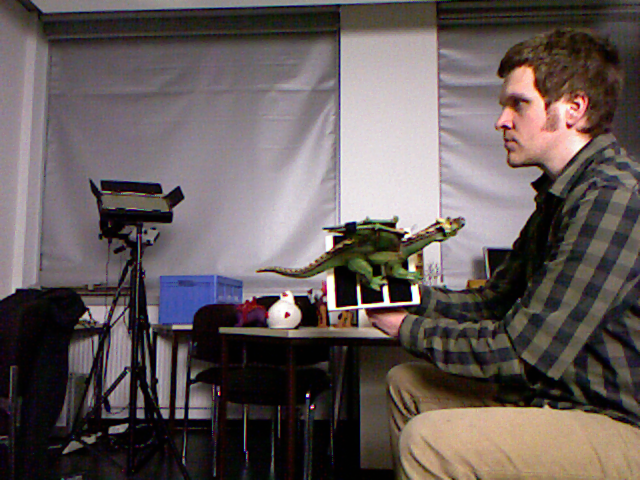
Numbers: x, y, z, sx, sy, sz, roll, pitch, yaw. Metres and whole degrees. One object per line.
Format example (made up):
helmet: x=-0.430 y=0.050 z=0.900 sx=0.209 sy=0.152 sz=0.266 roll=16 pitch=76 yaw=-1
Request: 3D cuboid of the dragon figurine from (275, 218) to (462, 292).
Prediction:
dragon figurine: x=0.091 y=0.014 z=1.074 sx=0.411 sy=0.125 sz=0.238 roll=-9 pitch=-29 yaw=2
